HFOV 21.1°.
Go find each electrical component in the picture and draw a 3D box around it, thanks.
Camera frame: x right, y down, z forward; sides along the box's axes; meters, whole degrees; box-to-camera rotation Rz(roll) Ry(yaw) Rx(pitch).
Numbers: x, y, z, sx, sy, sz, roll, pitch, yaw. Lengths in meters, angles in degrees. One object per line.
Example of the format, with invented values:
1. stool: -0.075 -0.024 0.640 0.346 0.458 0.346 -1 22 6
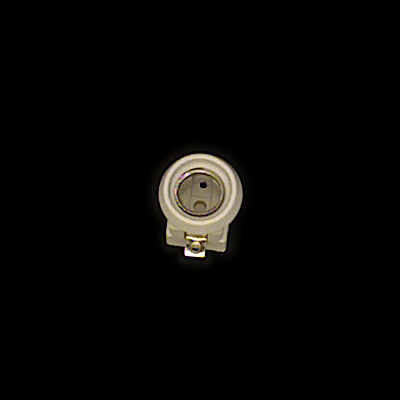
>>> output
1. electrical component: 0.000 0.000 0.637 0.048 0.067 0.055 5 -16 4
